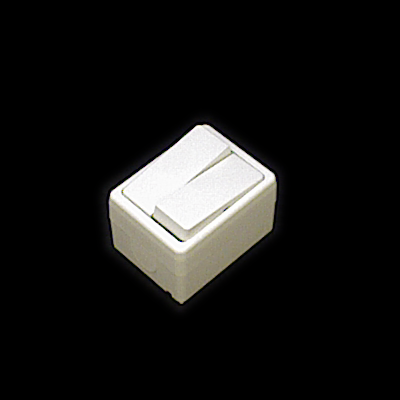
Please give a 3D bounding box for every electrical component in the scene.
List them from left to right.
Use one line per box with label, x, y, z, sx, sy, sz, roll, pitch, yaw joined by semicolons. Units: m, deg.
electrical component;0.000;0.000;0.629;0.096;0.061;0.061;-38;61;-26
